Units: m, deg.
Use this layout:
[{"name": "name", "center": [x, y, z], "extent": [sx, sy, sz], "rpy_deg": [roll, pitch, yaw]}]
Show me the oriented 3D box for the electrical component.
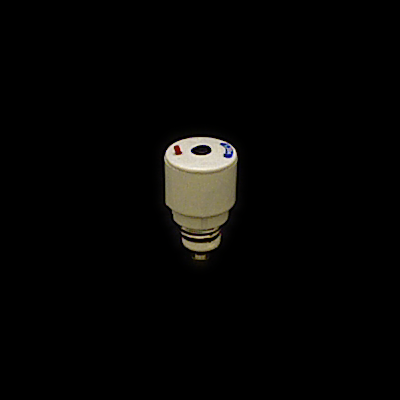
[{"name": "electrical component", "center": [0.000, 0.000, 0.629], "extent": [0.040, 0.079, 0.039], "rpy_deg": [0, 31, 0]}]
